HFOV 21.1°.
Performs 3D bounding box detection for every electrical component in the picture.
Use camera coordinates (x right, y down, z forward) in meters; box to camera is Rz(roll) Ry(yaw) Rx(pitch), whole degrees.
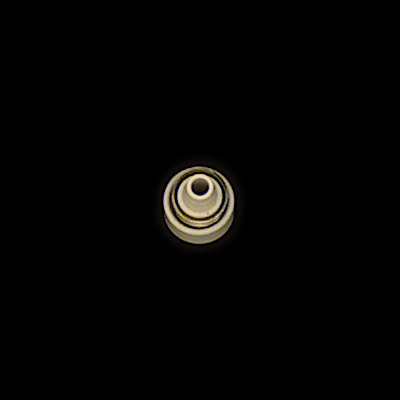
[{"bbox_3d":[0.000,0.000,0.634,0.043,0.043,0.061,0,-16,-1],"label":"electrical component"}]
